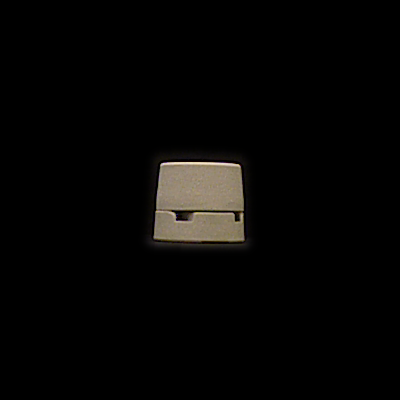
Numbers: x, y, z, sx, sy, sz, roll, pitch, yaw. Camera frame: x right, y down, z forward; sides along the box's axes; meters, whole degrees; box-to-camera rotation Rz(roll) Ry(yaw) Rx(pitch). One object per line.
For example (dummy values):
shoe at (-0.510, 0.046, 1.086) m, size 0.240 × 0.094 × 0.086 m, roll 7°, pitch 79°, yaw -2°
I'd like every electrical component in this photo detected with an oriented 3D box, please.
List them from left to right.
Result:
electrical component at (0.000, 0.000, 0.652) m, size 0.055 × 0.047 × 0.055 m, roll 1°, pitch 0°, yaw 0°
